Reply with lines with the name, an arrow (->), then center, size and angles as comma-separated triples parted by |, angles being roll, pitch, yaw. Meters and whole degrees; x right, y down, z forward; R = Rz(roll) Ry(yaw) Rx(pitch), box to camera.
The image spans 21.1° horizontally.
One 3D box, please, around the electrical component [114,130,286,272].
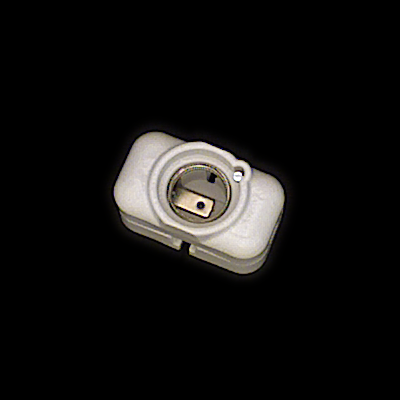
electrical component -> 0.000, 0.000, 0.634 | 0.095, 0.054, 0.059 | 21, -14, 6
